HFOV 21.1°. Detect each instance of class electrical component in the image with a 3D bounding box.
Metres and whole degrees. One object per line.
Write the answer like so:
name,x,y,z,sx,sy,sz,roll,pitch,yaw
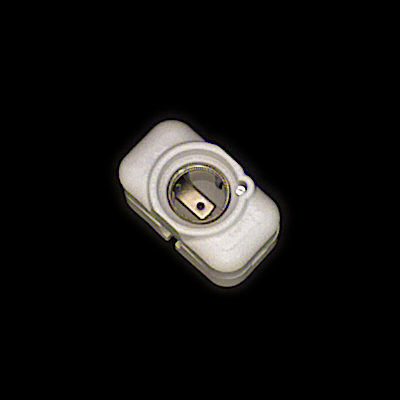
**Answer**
electrical component,0.000,0.000,0.634,0.095,0.054,0.059,41,-11,10
